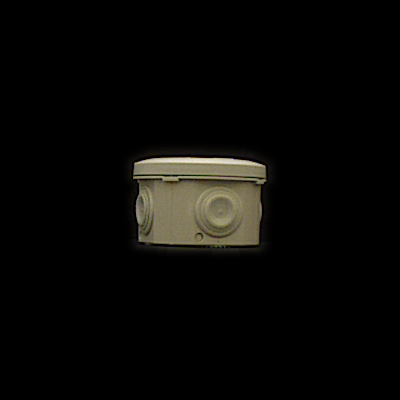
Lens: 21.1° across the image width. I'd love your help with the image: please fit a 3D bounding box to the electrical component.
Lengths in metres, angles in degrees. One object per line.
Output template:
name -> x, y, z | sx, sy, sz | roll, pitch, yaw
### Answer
electrical component -> 0.000, 0.000, 0.648 | 0.080, 0.051, 0.080 | 1, 0, 0
